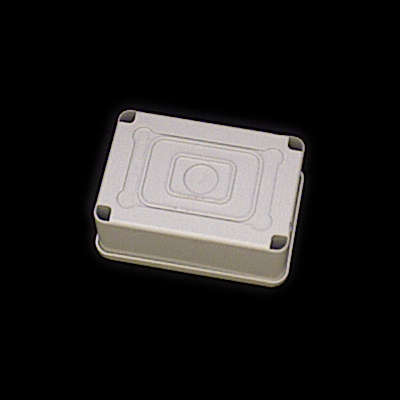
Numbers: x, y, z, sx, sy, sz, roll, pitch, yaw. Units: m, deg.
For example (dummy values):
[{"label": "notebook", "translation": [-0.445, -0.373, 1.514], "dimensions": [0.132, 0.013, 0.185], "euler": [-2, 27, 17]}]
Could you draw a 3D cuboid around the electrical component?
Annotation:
[{"label": "electrical component", "translation": [0.000, 0.000, 0.628], "dimensions": [0.113, 0.078, 0.057], "euler": [9, -27, 5]}]
